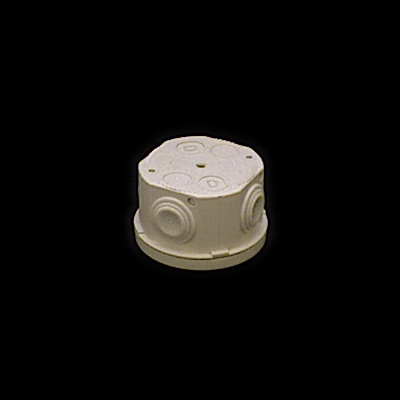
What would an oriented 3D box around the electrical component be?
[{"bbox_3d":[0.000,0.000,0.636,0.080,0.051,0.079,0,32,0],"label":"electrical component"}]
